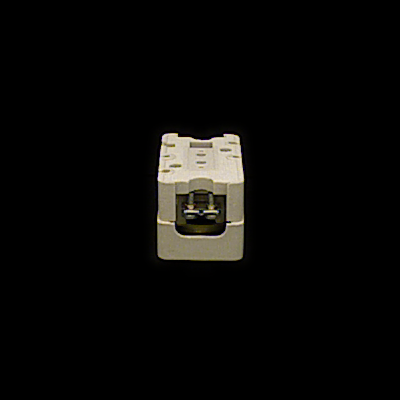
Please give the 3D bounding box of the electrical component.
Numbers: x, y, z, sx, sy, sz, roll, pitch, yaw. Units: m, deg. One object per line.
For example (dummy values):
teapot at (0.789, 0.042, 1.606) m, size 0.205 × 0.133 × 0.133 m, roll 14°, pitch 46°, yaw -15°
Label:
electrical component at (0.000, 0.000, 0.646) m, size 0.050 × 0.056 × 0.088 m, roll 0°, pitch 21°, yaw 0°
